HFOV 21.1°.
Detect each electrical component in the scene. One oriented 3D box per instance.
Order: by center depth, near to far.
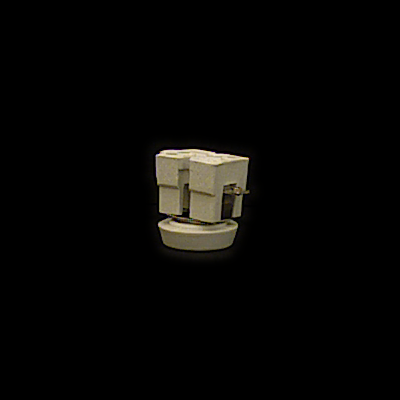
[{"bbox_3d":[0.000,0.000,0.651,0.065,0.056,0.049,11,14,35],"label":"electrical component"}]
